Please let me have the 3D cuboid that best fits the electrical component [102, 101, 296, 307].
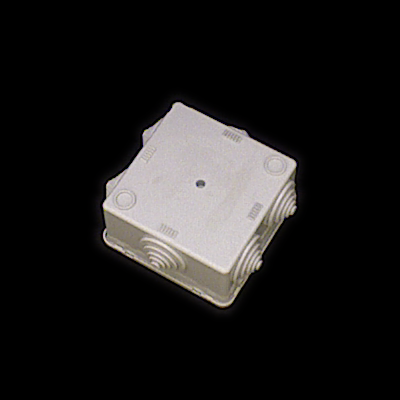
[{"bbox_3d":[0.000,0.000,0.632,0.099,0.100,0.048,28,-24,13],"label":"electrical component"}]
